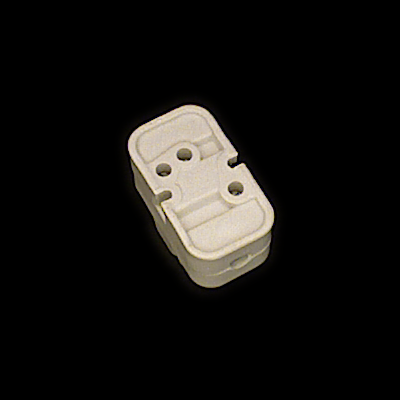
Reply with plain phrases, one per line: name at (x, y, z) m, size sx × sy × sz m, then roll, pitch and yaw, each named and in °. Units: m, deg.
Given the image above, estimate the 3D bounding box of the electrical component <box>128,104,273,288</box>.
electrical component at (0.000, 0.000, 0.633) m, size 0.054 × 0.095 × 0.059 m, roll -27°, pitch -23°, yaw -12°
